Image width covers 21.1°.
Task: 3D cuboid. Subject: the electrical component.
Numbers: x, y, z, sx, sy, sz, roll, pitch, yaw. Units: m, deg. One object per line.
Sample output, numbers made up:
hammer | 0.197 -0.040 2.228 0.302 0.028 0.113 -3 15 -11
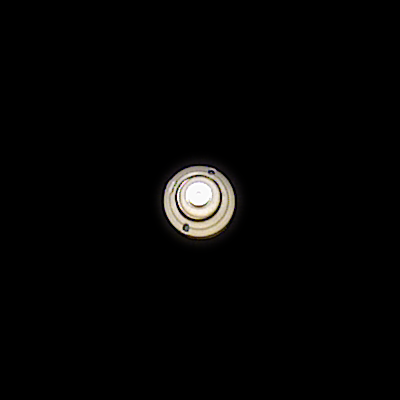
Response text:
electrical component | 0.000 0.000 0.618 0.040 0.040 0.078 0 -5 0
